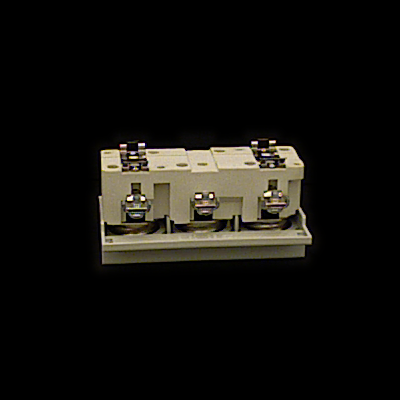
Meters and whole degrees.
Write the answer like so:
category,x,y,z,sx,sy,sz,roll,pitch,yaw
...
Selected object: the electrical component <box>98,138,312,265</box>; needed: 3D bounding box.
category,x,y,z,sx,sy,sz,roll,pitch,yaw
electrical component,0.000,0.000,0.648,0.122,0.064,0.077,-1,21,-7
